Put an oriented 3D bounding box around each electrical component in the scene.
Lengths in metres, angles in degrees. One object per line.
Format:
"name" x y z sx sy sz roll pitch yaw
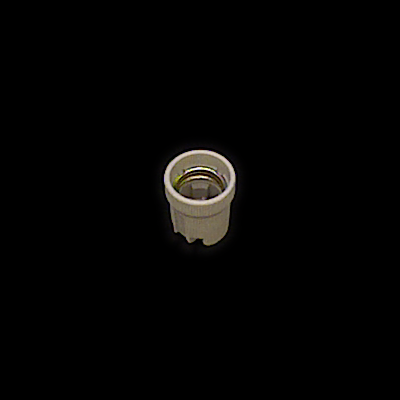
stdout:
"electrical component" 0.000 0.000 0.629 0.040 0.040 0.046 0 -38 -1
